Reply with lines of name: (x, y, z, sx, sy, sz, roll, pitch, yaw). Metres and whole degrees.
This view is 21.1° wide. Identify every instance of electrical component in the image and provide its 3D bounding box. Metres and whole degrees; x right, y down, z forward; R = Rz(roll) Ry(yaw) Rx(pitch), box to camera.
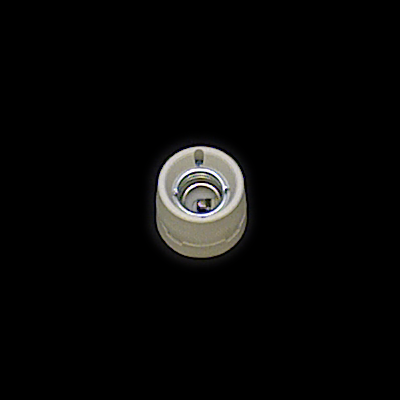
electrical component: (0.000, 0.000, 0.632, 0.055, 0.056, 0.047, 0, -26, 0)
